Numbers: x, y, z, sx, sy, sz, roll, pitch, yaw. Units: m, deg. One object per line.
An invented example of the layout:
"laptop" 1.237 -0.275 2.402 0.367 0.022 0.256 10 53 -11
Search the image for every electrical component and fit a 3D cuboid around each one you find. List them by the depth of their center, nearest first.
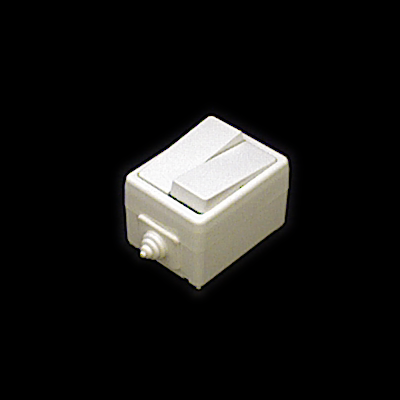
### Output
"electrical component" 0.000 0.000 0.629 0.061 0.061 0.096 32 50 30
